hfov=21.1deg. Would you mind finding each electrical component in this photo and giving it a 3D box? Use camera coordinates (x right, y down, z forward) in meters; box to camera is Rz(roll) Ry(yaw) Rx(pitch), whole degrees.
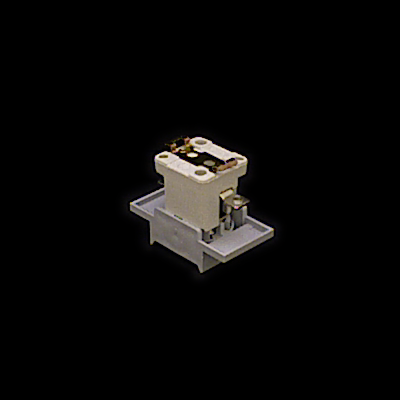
[{"bbox_3d":[0.000,0.000,0.634,0.080,0.064,0.042,28,41,36],"label":"electrical component"}]
